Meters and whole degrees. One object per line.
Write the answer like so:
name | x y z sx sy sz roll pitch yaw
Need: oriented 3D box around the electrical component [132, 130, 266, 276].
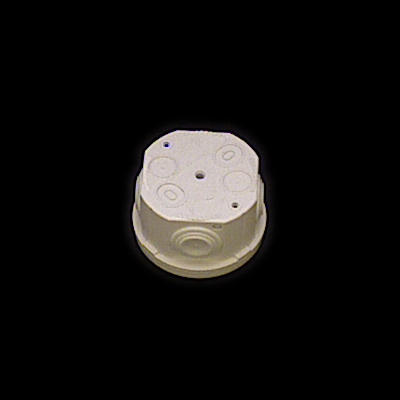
electrical component | 0.000 0.000 0.632 0.080 0.080 0.051 0 -37 -1
